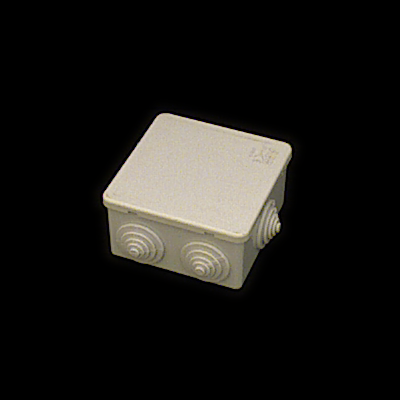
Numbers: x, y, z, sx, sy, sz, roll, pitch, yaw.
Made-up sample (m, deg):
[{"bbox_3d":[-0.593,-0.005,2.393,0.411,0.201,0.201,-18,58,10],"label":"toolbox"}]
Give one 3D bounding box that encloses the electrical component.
[{"bbox_3d":[0.000,0.000,0.643,0.099,0.049,0.099,15,45,15],"label":"electrical component"}]
